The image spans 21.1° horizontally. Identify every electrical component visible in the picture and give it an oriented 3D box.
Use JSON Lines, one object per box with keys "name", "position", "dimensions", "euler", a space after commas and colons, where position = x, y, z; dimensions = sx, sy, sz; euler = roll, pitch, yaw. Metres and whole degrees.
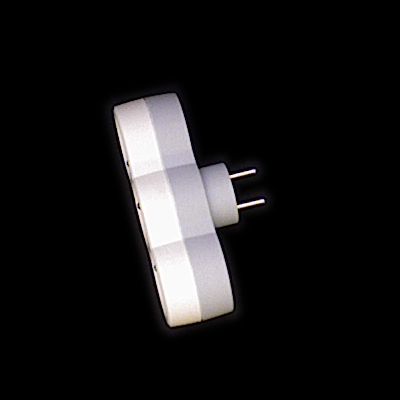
{"name": "electrical component", "position": [0.000, 0.000, 0.631], "dimensions": [0.074, 0.138, 0.052], "euler": [-14, -17, -6]}
